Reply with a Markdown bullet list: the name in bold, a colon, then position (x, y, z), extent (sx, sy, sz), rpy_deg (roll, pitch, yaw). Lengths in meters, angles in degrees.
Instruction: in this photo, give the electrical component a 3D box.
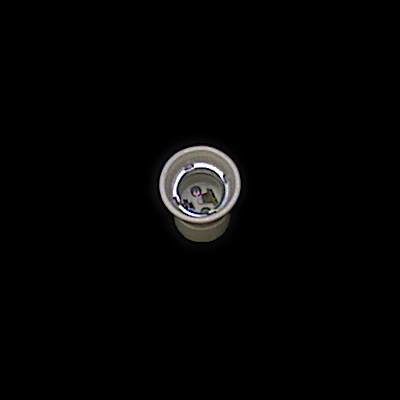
- **electrical component**: position (0.000, 0.000, 0.624), extent (0.044, 0.044, 0.065), rpy_deg (0, -17, 1)
